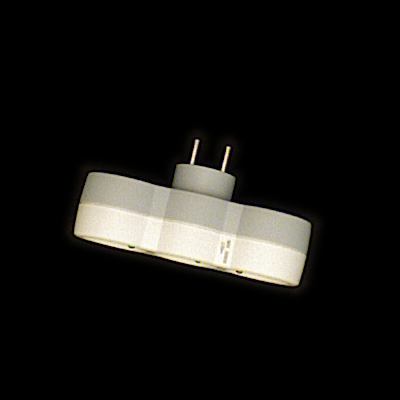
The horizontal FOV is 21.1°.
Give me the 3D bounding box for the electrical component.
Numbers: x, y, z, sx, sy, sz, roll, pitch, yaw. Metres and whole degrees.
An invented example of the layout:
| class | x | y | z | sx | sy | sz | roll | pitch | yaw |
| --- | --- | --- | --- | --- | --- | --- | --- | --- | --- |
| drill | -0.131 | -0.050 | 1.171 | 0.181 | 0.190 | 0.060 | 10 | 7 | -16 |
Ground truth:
| class | x | y | z | sx | sy | sz | roll | pitch | yaw |
| --- | --- | --- | --- | --- | --- | --- | --- | --- | --- |
| electrical component | 0.000 | 0.000 | 0.640 | 0.138 | 0.074 | 0.052 | 13 | -7 | 1 |
